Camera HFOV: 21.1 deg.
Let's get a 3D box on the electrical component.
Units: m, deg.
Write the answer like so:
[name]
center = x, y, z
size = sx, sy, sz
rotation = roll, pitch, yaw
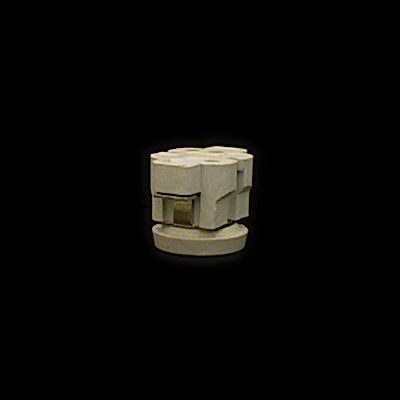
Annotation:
[electrical component]
center = 0.000, 0.000, 0.649
size = 0.057, 0.057, 0.078
rotation = 8, 14, 27
